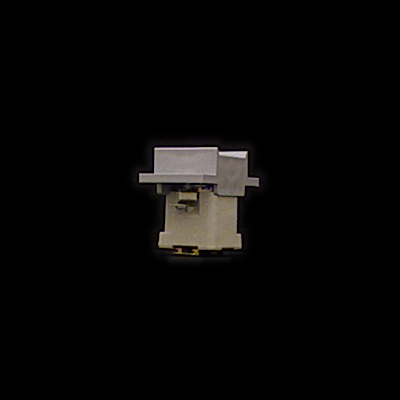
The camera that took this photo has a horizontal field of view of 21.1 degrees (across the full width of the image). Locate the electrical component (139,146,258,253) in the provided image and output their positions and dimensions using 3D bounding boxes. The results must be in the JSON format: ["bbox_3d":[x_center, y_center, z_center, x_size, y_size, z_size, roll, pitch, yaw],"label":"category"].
[{"bbox_3d":[0.000,0.000,0.652,0.042,0.064,0.081,1,0,27],"label":"electrical component"}]
